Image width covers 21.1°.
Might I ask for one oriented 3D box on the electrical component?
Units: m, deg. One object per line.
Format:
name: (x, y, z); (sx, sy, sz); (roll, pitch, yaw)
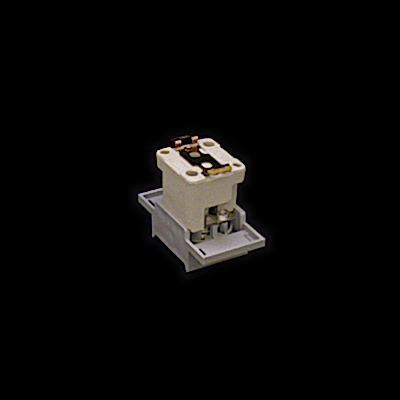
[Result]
electrical component: (0.000, 0.000, 0.633); (0.042, 0.064, 0.080); (-16, 35, -26)
